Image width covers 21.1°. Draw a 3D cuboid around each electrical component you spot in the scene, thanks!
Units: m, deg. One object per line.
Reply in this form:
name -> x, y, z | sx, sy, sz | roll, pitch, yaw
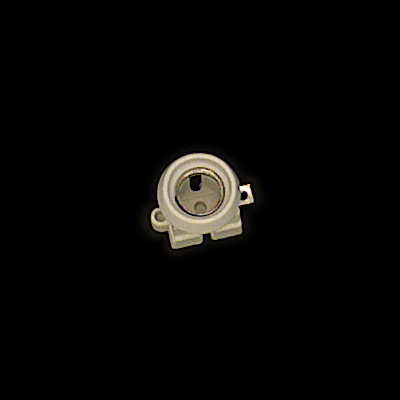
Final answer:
electrical component -> 0.000, 0.000, 0.638 | 0.066, 0.048, 0.055 | -14, -14, -4
